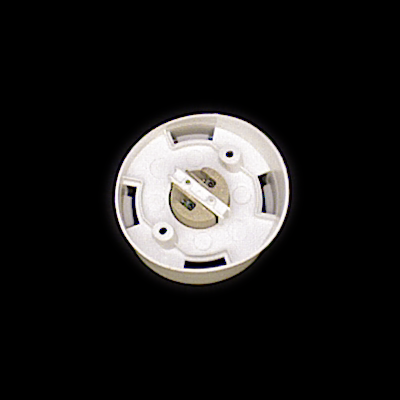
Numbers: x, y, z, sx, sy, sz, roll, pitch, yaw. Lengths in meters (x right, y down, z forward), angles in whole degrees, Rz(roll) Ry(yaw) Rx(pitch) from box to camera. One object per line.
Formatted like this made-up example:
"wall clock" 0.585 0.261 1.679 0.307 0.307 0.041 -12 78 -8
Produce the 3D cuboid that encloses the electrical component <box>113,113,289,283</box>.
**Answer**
"electrical component" 0.000 0.000 0.624 0.099 0.099 0.064 0 -17 -1
